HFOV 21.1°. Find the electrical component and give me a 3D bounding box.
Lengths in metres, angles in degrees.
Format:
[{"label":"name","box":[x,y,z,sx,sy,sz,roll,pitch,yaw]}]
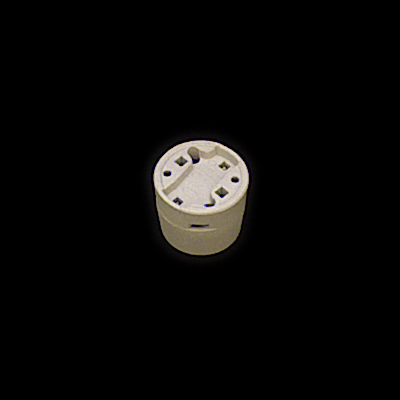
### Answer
[{"label":"electrical component","box":[0.000,0.000,0.635,0.055,0.055,0.047,0,-37,0]}]
